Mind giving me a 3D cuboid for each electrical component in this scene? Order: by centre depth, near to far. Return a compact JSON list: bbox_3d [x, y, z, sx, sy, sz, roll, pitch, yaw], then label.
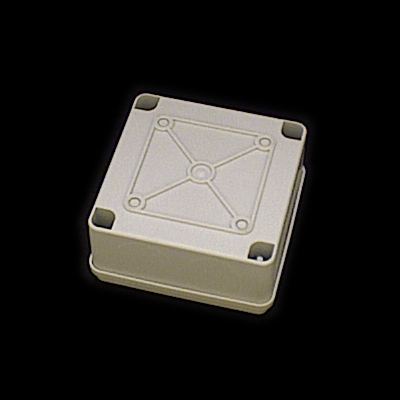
[{"bbox_3d":[0.000,0.000,0.628,0.108,0.108,0.056,12,-36,8],"label":"electrical component"}]
